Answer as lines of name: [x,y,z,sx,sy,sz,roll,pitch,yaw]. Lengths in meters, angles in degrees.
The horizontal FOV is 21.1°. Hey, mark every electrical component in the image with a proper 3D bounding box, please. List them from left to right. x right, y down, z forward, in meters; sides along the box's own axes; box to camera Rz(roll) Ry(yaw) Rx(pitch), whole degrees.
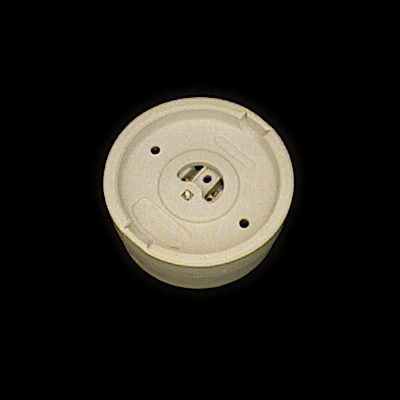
electrical component: [0.000,0.000,0.632,0.108,0.108,0.060,0,-27,-1]
